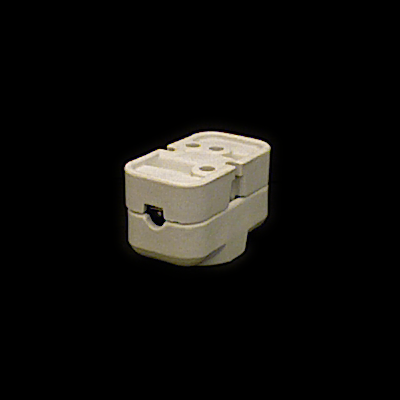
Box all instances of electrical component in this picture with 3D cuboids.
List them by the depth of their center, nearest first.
[{"bbox_3d":[0.000,0.000,0.645,0.053,0.060,0.095,14,26,30],"label":"electrical component"}]
